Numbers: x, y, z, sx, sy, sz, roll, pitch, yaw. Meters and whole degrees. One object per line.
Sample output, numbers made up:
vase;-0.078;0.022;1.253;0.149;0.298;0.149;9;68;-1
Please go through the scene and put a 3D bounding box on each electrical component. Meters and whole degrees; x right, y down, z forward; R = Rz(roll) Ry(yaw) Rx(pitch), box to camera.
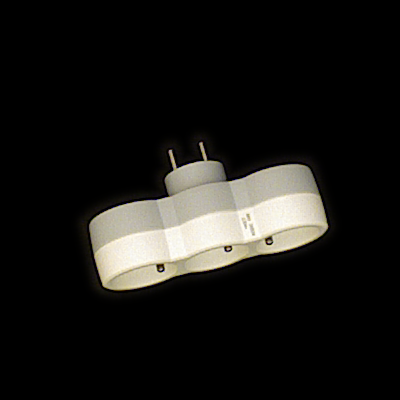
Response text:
electrical component;0.000;0.000;0.639;0.138;0.074;0.052;-14;-17;-4
